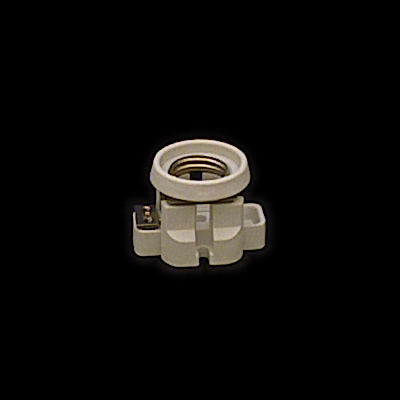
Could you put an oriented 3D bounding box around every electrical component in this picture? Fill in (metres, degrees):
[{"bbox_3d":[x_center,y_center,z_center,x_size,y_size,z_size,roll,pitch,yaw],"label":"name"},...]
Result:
[{"bbox_3d":[0.000,0.000,0.634,0.078,0.057,0.057,-3,32,-7],"label":"electrical component"}]
